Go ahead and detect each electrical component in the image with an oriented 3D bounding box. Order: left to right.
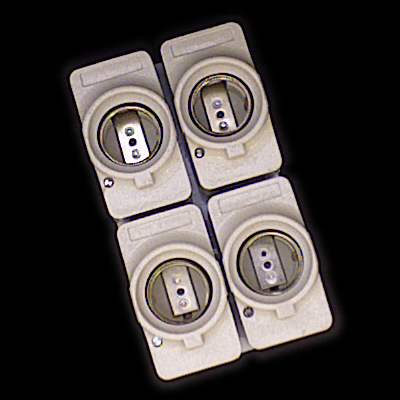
[{"bbox_3d":[0.000,0.000,0.626,0.105,0.186,0.060,-17,-6,-2],"label":"electrical component"}]
